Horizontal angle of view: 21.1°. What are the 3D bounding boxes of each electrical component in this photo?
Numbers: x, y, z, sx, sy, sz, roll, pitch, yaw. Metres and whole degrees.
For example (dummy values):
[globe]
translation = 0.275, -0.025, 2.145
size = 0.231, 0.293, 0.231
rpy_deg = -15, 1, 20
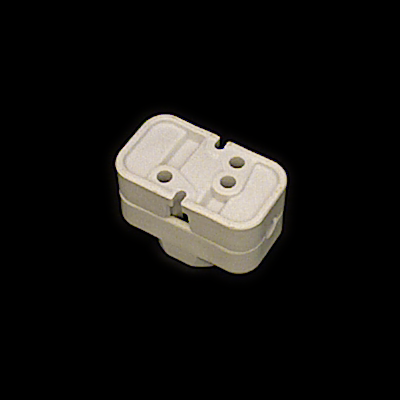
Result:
[electrical component]
translation = 0.000, 0.000, 0.638
size = 0.094, 0.054, 0.059
rpy_deg = 25, -33, 18
